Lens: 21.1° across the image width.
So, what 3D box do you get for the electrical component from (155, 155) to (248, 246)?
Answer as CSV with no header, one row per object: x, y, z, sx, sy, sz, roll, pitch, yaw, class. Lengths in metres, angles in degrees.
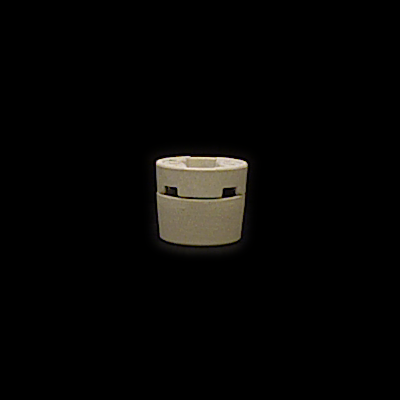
0.000,0.000,0.647,0.055,0.047,0.055,1,11,0,electrical component
